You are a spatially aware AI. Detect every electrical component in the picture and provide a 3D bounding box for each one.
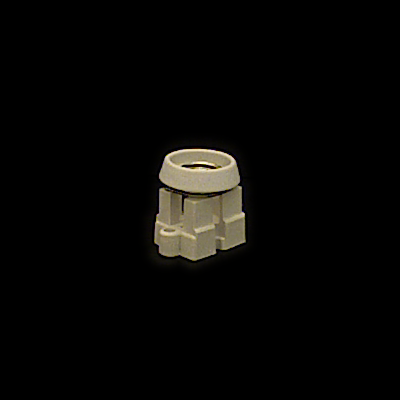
[{"bbox_3d":[0.000,0.000,0.648,0.067,0.056,0.047,-19,32,-41],"label":"electrical component"}]
